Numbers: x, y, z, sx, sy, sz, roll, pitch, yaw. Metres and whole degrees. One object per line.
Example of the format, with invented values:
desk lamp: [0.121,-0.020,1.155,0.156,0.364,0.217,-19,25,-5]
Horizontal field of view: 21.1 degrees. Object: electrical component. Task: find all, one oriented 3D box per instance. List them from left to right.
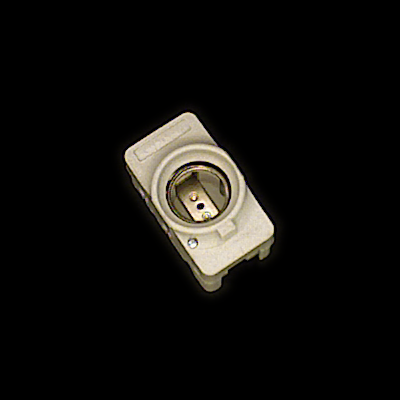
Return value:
electrical component: [0.000,0.000,0.636,0.050,0.089,0.055,-33,-14,-9]
